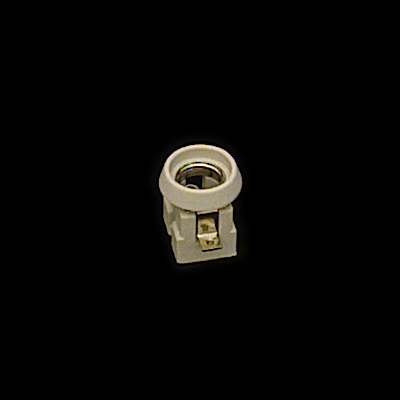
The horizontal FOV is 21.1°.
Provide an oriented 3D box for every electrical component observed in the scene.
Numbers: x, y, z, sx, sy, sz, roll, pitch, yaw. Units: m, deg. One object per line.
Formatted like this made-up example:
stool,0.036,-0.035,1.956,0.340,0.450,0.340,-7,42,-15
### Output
electrical component,0.000,0.000,0.639,0.048,0.056,0.065,-11,44,-9
